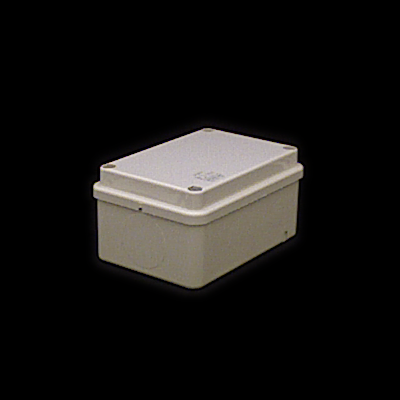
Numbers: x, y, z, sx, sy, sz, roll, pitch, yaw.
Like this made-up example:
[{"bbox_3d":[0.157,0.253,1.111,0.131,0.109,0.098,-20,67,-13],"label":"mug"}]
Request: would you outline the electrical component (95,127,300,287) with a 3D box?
[{"bbox_3d":[0.000,0.000,0.638,0.077,0.058,0.112,16,25,33],"label":"electrical component"}]
